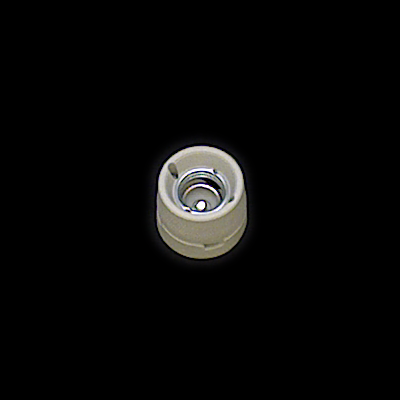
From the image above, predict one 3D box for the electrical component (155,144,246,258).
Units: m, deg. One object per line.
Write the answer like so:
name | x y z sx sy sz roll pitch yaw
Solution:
electrical component | 0.000 0.000 0.633 0.055 0.055 0.047 0 -28 1
